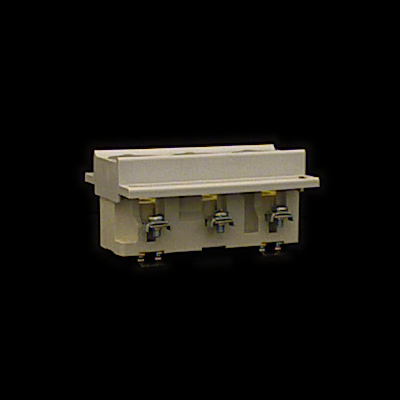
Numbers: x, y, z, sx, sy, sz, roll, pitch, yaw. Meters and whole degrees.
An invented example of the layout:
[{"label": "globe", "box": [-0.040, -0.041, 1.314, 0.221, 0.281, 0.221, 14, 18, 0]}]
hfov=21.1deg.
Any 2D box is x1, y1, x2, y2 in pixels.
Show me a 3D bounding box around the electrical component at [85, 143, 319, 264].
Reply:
[{"label": "electrical component", "box": [0.000, 0.000, 0.657, 0.122, 0.063, 0.078, -4, 11, -24]}]
